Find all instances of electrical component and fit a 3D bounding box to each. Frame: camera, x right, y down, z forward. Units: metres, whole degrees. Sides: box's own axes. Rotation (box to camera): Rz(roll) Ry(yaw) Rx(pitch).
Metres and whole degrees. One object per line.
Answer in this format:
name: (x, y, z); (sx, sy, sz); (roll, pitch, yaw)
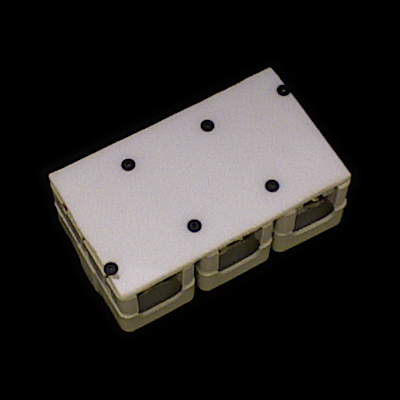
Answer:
electrical component: (0.000, 0.000, 0.633); (0.150, 0.089, 0.062); (-27, -24, -13)
